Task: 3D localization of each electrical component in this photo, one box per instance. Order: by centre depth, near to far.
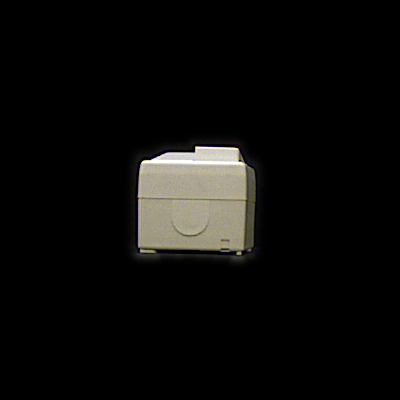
[{"bbox_3d":[0.000,0.000,0.653,0.062,0.061,0.096,1,0,7],"label":"electrical component"}]
